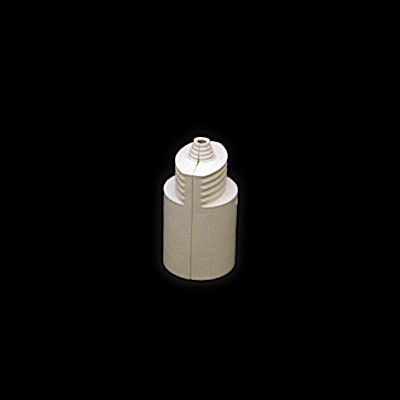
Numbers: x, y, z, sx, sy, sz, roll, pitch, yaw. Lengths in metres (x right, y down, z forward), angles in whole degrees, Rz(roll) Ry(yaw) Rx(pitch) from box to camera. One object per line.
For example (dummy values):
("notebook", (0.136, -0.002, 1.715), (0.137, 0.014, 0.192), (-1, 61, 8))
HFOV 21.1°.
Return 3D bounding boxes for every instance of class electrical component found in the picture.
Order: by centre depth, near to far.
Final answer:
("electrical component", (0.000, 0.000, 0.628), (0.043, 0.082, 0.042), (1, 31, 0))
